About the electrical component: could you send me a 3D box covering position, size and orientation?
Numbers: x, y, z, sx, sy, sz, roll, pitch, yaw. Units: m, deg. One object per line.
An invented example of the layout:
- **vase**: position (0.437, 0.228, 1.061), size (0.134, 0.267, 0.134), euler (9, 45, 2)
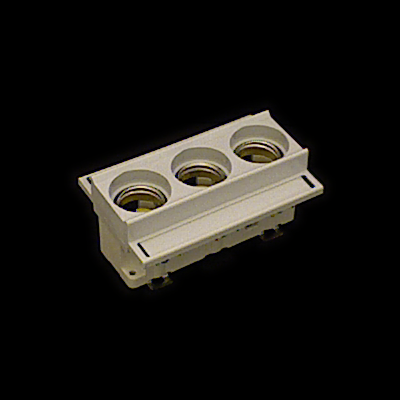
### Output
- **electrical component**: position (0.000, 0.000, 0.642), size (0.121, 0.064, 0.078), euler (-22, 48, -23)
